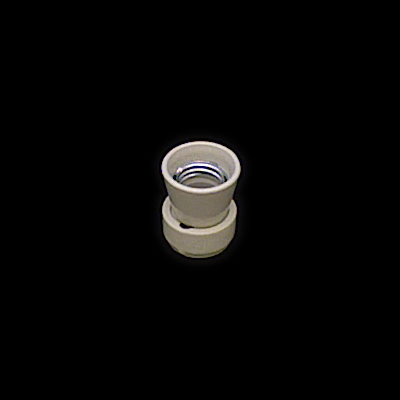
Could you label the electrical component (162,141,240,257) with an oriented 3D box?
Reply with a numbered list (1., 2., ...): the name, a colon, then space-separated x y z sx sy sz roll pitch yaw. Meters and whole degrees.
1. electrical component: 0.000 0.000 0.633 0.045 0.056 0.044 1 43 -1
